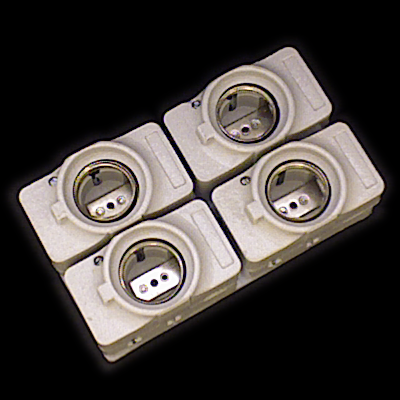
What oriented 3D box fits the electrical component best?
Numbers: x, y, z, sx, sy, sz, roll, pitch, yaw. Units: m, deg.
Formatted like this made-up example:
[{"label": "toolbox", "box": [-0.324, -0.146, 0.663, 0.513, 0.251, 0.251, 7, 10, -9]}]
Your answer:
[{"label": "electrical component", "box": [0.000, 0.000, 0.625, 0.187, 0.106, 0.060, -29, -15, -8]}]
